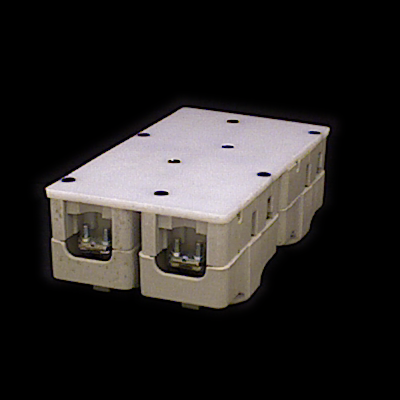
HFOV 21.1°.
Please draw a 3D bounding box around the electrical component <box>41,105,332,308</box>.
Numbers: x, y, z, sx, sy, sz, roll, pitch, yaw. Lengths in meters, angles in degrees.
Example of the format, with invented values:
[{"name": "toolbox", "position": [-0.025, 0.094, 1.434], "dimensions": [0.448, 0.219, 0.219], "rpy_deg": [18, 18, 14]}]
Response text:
[{"name": "electrical component", "position": [0.000, 0.000, 0.638], "dimensions": [0.105, 0.061, 0.184], "rpy_deg": [10, 22, 21]}]
